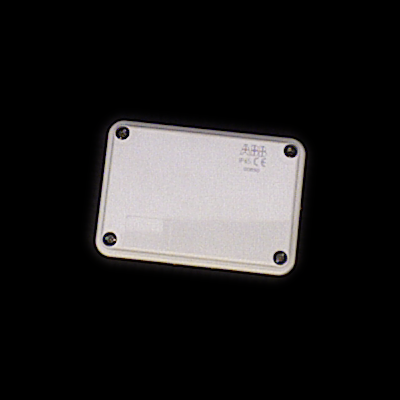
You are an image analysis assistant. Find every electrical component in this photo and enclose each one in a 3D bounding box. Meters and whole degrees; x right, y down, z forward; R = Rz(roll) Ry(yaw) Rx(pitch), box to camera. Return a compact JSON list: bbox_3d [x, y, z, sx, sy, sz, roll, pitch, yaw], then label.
[{"bbox_3d":[0.000,0.000,0.628,0.113,0.078,0.057,6,-7,1],"label":"electrical component"}]
